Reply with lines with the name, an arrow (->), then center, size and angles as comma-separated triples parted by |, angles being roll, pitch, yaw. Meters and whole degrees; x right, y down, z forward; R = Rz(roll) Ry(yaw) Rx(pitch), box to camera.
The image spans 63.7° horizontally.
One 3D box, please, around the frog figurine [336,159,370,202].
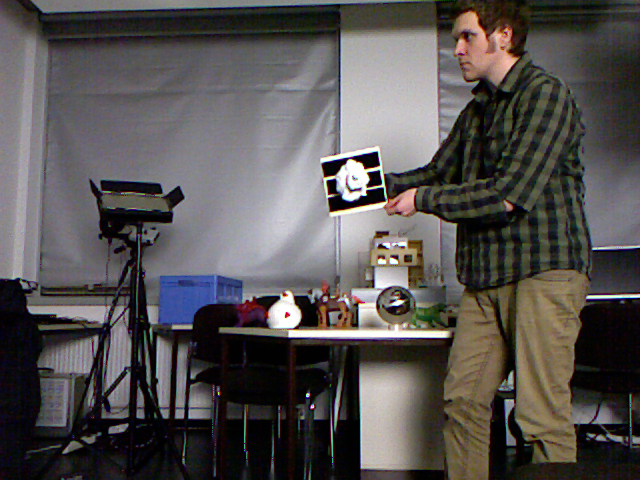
frog figurine -> 0.103, -0.195, 1.688 | 0.123, 0.137, 0.160 | 14, 4, 11
